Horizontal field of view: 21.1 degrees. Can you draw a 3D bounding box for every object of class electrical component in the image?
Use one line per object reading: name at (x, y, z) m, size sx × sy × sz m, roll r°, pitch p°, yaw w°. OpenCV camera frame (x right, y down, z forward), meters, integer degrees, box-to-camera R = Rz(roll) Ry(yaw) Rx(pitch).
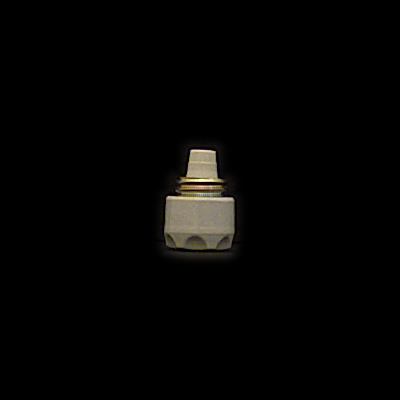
electrical component at (0.000, 0.000, 0.656) m, size 0.043 × 0.062 × 0.043 m, roll 3°, pitch 2°, yaw 0°
